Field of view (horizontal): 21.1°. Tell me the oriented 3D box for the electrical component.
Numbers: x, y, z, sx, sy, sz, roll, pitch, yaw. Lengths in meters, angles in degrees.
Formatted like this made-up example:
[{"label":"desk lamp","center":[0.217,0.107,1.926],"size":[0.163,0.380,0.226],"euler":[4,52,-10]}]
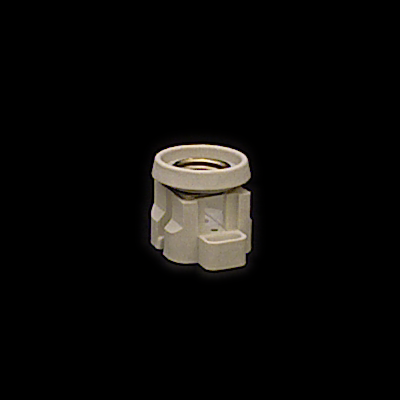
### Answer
[{"label":"electrical component","center":[0.000,0.000,0.640],"size":[0.058,0.057,0.077],"euler":[-9,23,-24]}]
